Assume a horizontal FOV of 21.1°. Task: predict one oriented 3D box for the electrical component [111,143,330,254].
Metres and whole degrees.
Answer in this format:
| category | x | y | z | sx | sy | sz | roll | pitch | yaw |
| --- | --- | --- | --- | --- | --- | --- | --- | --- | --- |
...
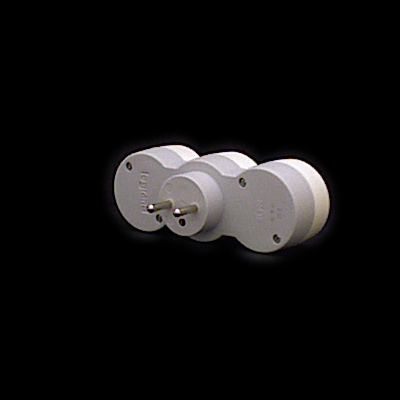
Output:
| category | x | y | z | sx | sy | sz | roll | pitch | yaw |
| --- | --- | --- | --- | --- | --- | --- | --- | --- | --- |
| electrical component | 0.000 | 0.000 | 0.644 | 0.138 | 0.052 | 0.073 | 10 | 15 | 35 |
